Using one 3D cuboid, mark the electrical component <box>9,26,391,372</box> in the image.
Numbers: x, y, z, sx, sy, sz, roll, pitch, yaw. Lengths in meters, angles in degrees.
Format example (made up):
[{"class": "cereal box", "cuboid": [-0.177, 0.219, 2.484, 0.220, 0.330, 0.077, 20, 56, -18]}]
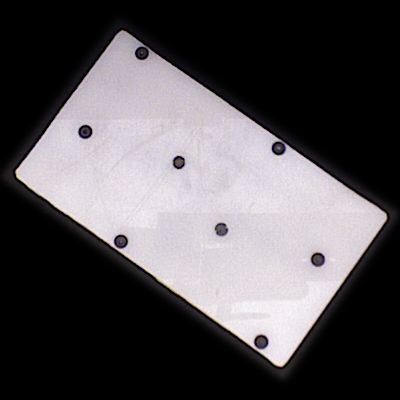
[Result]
[{"class": "electrical component", "cuboid": [0.000, 0.000, 0.626, 0.186, 0.106, 0.060, 35, -5, 4]}]
